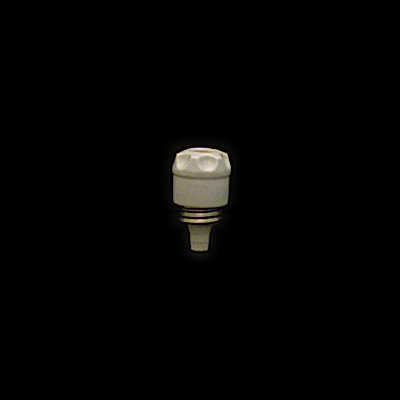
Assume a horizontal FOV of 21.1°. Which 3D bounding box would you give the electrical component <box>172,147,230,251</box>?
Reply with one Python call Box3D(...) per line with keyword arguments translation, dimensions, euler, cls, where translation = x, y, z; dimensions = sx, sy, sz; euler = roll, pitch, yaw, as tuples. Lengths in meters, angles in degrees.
Box3D(translation=(0.000, 0.000, 0.650), dimensions=(0.035, 0.062, 0.035), euler=(1, 12, 0), cls="electrical component")
